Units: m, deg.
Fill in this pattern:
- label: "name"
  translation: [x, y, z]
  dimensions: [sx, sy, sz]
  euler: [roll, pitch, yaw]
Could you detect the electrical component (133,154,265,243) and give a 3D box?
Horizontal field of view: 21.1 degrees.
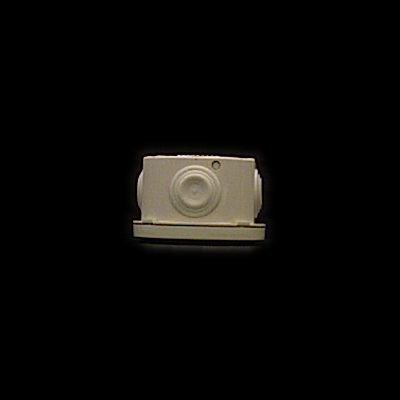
- label: "electrical component"
  translation: [0.000, 0.000, 0.652]
  dimensions: [0.080, 0.051, 0.080]
  euler: [2, 0, 0]
